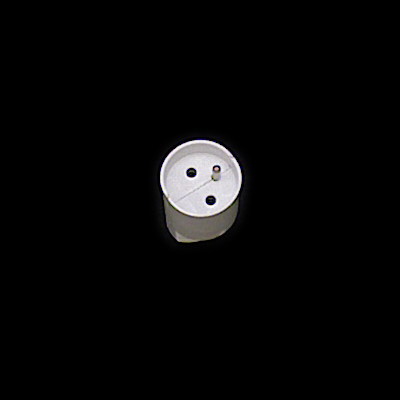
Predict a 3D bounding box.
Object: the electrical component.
[{"bbox_3d":[0.000,0.000,0.616,0.043,0.043,0.080,0,-17,-1],"label":"electrical component"}]
